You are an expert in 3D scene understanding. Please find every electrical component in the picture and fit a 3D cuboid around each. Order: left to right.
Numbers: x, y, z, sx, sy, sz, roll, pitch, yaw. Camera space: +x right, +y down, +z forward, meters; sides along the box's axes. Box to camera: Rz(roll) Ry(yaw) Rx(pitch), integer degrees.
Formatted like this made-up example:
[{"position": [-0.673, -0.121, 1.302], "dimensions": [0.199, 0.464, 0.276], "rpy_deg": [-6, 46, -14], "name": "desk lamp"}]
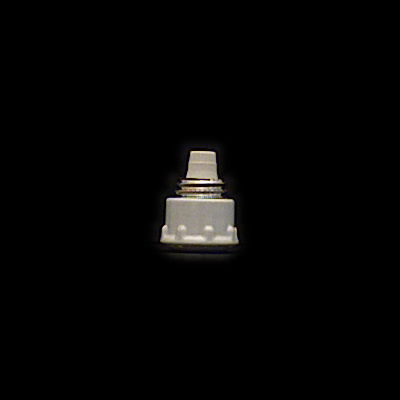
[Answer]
[{"position": [0.000, 0.000, 0.658], "dimensions": [0.048, 0.062, 0.048], "rpy_deg": [2, 2, 0], "name": "electrical component"}]
